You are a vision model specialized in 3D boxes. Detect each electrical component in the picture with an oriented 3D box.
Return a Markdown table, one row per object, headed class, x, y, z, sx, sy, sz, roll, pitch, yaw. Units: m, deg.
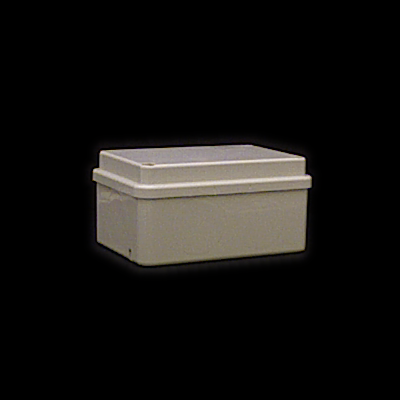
| class | x | y | z | sx | sy | sz | roll | pitch | yaw |
| --- | --- | --- | --- | --- | --- | --- | --- | --- | --- |
| electrical component | 0.000 | 0.000 | 0.646 | 0.113 | 0.057 | 0.077 | -4 | 12 | -27 |
